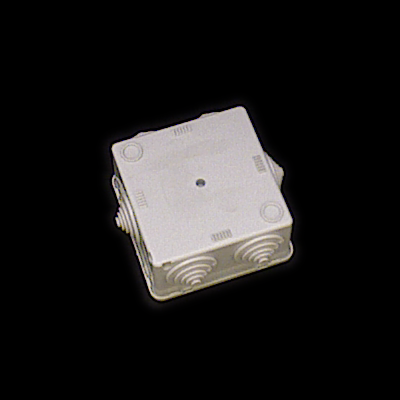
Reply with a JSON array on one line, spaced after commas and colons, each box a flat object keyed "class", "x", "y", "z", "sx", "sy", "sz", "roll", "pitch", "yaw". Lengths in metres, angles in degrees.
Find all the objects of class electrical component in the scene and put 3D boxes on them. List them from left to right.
[{"class": "electrical component", "x": 0.000, "y": 0.000, "z": 0.631, "sx": 0.100, "sy": 0.099, "sz": 0.048, "roll": -17, "pitch": -26, "yaw": -9}]
